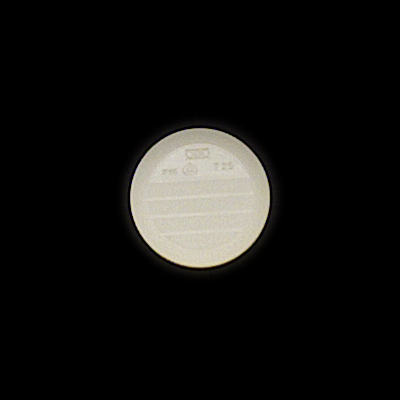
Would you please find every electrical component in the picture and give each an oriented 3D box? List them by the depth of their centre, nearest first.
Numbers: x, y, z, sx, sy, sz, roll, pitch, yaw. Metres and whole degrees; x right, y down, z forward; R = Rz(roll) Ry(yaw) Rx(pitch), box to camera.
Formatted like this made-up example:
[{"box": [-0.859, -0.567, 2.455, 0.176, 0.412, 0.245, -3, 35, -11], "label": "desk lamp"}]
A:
[{"box": [0.000, 0.000, 0.631, 0.080, 0.080, 0.050, 0, -6, 0], "label": "electrical component"}]
